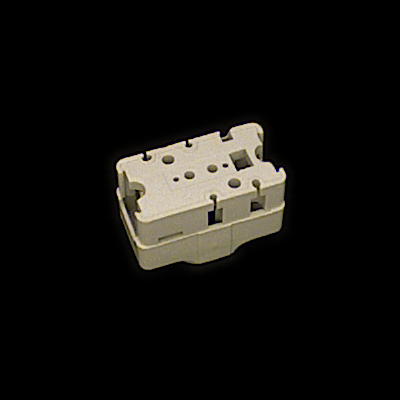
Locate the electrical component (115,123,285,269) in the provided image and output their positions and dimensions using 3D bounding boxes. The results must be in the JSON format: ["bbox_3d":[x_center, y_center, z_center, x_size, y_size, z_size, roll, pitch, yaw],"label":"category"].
[{"bbox_3d":[0.000,0.000,0.637,0.090,0.050,0.056,-16,-36,-13],"label":"electrical component"}]
